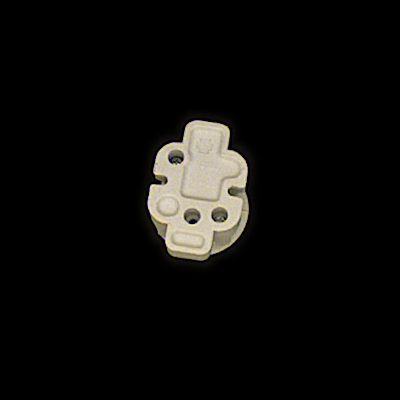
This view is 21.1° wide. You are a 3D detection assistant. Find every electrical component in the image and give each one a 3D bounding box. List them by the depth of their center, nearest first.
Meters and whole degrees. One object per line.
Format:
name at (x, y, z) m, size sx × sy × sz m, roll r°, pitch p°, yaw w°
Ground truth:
electrical component at (0.000, 0.000, 0.636) m, size 0.058 × 0.079 × 0.056 m, roll 8°, pitch -18°, yaw 3°
